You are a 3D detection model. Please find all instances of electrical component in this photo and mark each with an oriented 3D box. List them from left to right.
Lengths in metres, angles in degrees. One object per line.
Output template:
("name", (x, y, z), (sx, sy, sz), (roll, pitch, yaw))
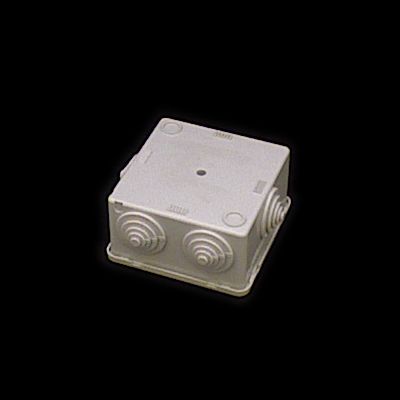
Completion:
("electrical component", (0.000, 0.000, 0.634), (0.099, 0.049, 0.099), (15, 44, 15))
